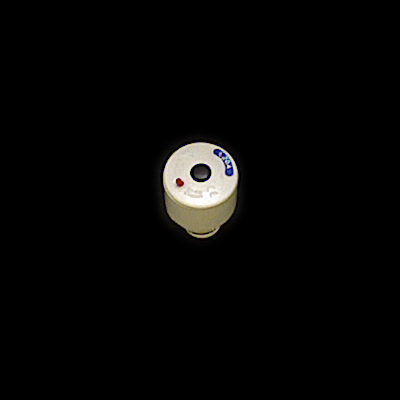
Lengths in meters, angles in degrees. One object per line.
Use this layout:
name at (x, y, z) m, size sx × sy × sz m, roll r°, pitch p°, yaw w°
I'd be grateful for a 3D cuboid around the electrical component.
electrical component at (0.000, 0.000, 0.617) m, size 0.040 × 0.040 × 0.078 m, roll 0°, pitch -27°, yaw 1°
